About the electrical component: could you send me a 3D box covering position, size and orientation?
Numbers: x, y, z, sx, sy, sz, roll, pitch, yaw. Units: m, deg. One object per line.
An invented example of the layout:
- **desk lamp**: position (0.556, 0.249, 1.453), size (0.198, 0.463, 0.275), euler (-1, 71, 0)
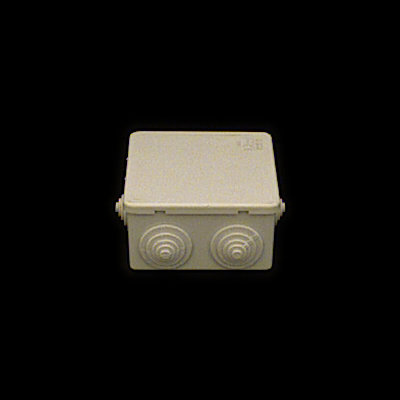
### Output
- **electrical component**: position (0.000, 0.000, 0.646), size (0.100, 0.049, 0.098), euler (1, 32, -1)
